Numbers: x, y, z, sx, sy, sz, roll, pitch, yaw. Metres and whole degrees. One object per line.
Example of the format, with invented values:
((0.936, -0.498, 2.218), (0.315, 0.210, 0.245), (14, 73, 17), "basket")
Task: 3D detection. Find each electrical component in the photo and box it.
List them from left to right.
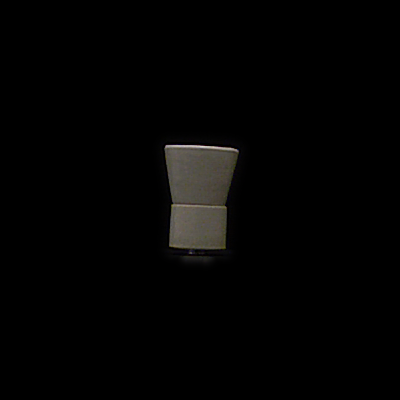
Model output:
((0.000, 0.000, 0.650), (0.044, 0.065, 0.044), (2, 1, 0), "electrical component")
